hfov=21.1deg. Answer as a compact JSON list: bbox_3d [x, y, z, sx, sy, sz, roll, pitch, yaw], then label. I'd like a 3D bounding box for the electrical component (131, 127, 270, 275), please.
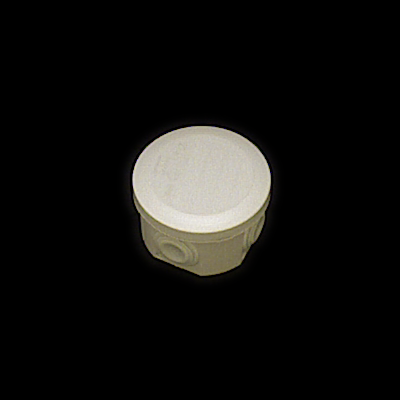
[{"bbox_3d":[0.000,0.000,0.633,0.080,0.080,0.051,0,-38,-1],"label":"electrical component"}]
